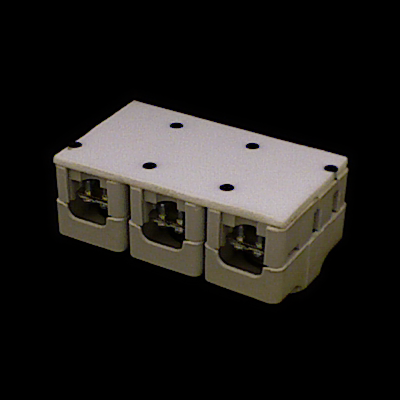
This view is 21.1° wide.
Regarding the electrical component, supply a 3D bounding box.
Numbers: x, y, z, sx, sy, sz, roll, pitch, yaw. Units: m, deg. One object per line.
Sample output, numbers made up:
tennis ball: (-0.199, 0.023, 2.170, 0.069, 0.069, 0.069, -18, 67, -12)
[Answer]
electrical component: (0.000, 0.000, 0.641, 0.149, 0.063, 0.088, 17, 35, 25)
